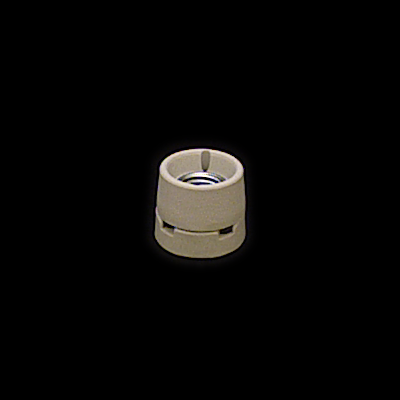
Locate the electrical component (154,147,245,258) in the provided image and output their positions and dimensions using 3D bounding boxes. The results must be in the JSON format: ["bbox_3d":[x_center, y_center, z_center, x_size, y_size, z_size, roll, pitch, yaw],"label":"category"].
[{"bbox_3d":[0.000,0.000,0.639,0.055,0.047,0.055,1,31,-1],"label":"electrical component"}]
